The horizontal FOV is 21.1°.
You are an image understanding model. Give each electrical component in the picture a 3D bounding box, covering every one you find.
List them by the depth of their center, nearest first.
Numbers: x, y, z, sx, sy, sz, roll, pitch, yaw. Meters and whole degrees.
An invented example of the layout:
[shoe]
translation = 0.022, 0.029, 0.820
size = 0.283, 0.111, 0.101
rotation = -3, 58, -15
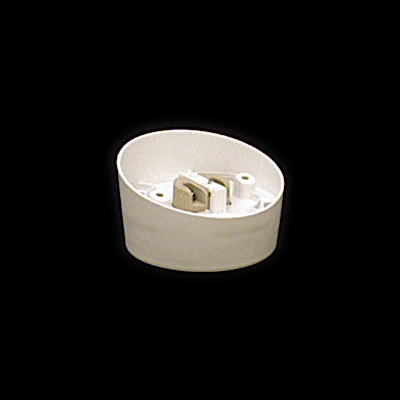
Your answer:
[electrical component]
translation = 0.000, 0.000, 0.638
size = 0.099, 0.065, 0.097
rotation = 0, 20, 0
